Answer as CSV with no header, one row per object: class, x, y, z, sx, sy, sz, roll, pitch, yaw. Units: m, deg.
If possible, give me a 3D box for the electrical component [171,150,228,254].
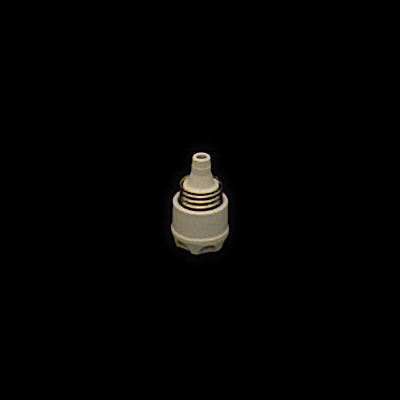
electrical component,0.000,0.000,0.646,0.035,0.062,0.034,1,31,-1
